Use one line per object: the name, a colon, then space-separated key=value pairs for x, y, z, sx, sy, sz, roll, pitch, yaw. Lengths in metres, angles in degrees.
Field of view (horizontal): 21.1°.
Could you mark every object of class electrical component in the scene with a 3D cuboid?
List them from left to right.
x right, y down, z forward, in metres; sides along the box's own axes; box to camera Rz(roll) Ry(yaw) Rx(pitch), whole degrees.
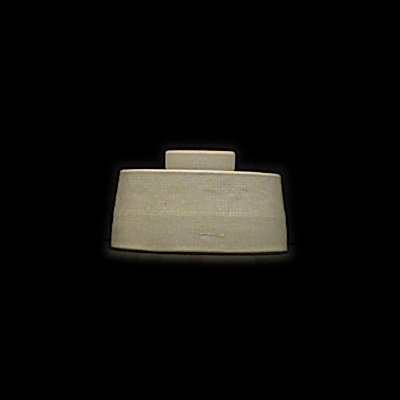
electrical component: x=0.000 y=0.000 z=0.658 sx=0.108 sy=0.060 sz=0.108 roll=1 pitch=1 yaw=1
